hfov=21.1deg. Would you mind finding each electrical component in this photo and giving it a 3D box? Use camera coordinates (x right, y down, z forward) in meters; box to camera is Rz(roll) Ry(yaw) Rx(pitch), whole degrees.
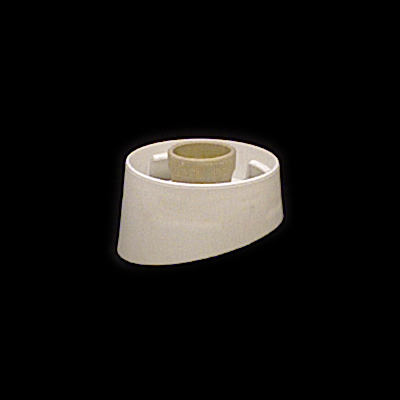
[{"bbox_3d":[0.000,0.000,0.639,0.099,0.065,0.097,1,21,0],"label":"electrical component"}]
